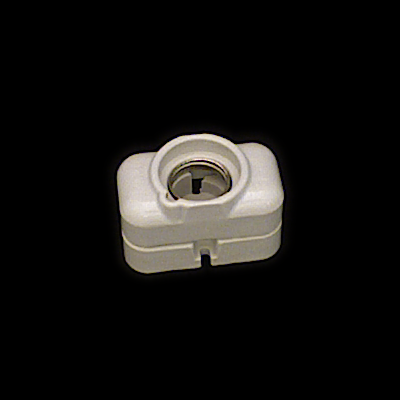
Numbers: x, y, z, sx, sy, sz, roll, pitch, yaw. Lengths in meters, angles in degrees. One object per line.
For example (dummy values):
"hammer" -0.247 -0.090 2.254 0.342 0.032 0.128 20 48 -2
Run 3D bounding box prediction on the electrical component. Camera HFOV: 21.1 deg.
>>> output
"electrical component" 0.000 0.000 0.634 0.095 0.053 0.059 -7 -37 -5
